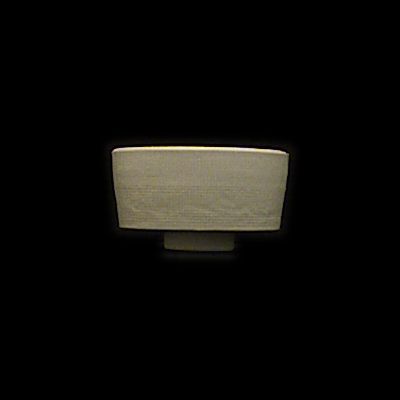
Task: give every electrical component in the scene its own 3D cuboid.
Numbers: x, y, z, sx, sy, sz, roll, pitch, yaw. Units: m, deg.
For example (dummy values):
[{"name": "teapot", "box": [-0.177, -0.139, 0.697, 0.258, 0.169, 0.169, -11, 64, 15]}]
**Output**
[{"name": "electrical component", "box": [0.000, 0.000, 0.658, 0.108, 0.060, 0.108, 1, 1, 0]}]
